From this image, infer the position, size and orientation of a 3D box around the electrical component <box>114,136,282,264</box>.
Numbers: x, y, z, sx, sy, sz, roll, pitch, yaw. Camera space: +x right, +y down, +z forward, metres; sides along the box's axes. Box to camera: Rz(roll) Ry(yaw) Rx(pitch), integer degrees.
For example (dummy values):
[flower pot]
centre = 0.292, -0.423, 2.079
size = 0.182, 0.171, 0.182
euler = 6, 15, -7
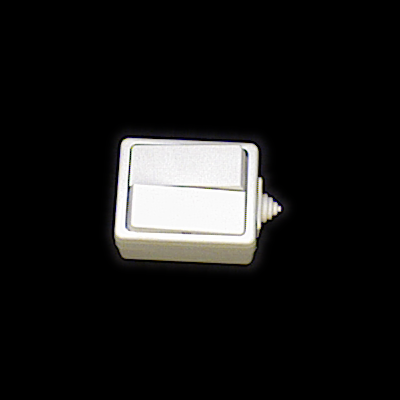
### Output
[electrical component]
centre = 0.000, 0.000, 0.626
size = 0.096, 0.062, 0.060
euler = 3, -17, 1
